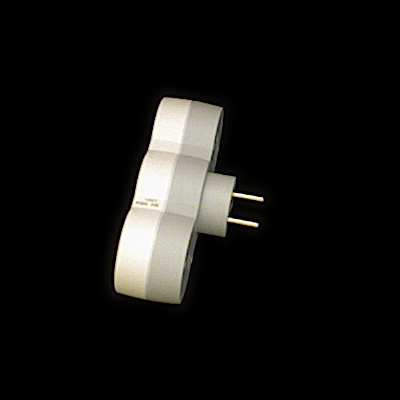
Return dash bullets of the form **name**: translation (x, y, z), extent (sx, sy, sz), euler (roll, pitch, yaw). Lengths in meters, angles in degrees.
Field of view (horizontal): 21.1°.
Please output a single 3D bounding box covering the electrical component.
- **electrical component**: translation (0.000, 0.000, 0.637), extent (0.073, 0.138, 0.052), euler (10, -37, 5)
